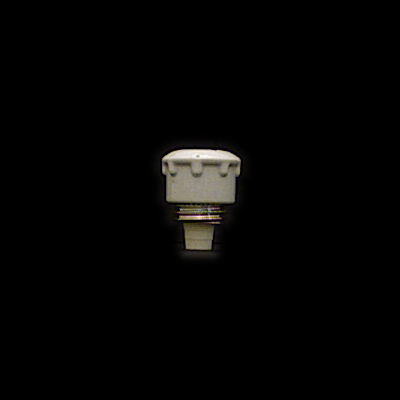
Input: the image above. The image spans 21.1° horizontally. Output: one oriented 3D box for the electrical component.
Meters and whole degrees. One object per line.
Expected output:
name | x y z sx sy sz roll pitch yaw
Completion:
electrical component | 0.000 0.000 0.658 0.048 0.062 0.048 1 2 0
